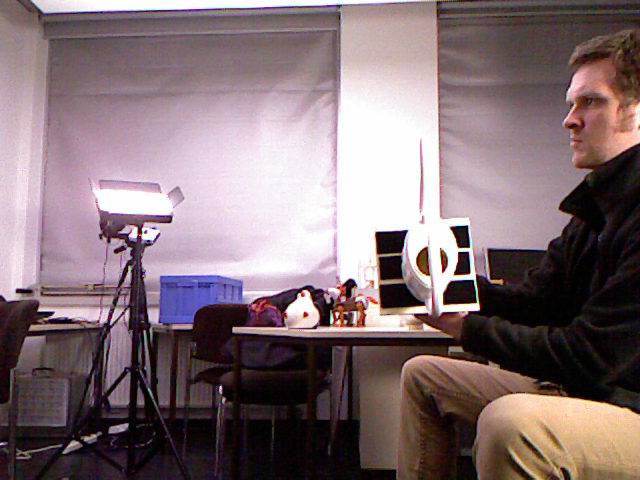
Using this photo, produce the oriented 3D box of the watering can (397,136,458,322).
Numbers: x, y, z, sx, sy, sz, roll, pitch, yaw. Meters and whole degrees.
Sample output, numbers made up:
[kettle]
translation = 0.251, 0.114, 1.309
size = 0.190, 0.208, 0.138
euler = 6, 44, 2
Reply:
[watering can]
translation = 0.212, -0.013, 1.030
size = 0.104, 0.352, 0.223
euler = -1, -12, 2
